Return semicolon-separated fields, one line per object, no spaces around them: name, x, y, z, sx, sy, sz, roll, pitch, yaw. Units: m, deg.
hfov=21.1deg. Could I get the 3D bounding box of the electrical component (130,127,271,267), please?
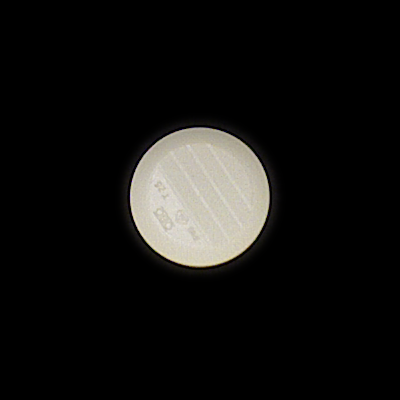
electrical component;0.000;0.000;0.631;0.080;0.080;0.050;0;-7;0
